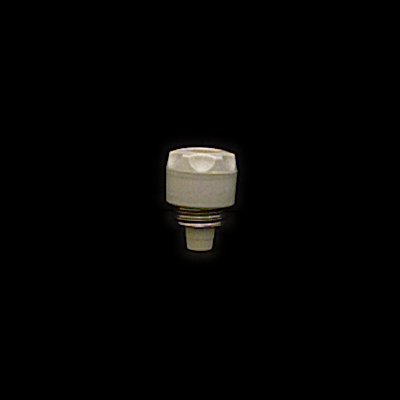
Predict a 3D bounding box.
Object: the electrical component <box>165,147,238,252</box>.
[{"bbox_3d":[0.000,0.000,0.651,0.043,0.062,0.043,2,12,0],"label":"electrical component"}]
